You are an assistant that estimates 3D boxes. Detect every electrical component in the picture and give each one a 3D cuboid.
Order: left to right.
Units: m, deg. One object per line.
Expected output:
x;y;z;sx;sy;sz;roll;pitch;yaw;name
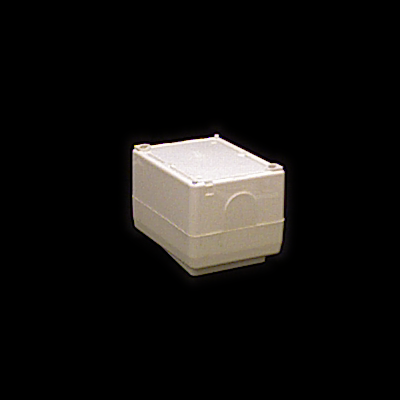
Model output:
0.000;0.000;0.642;0.061;0.061;0.095;-10;23;-27;electrical component
